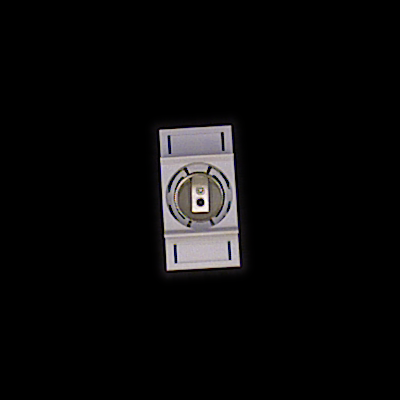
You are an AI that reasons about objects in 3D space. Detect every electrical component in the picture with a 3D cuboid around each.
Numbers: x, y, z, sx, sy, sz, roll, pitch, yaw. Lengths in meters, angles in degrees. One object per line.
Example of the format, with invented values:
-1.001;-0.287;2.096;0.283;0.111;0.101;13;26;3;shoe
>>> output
0.000;0.000;0.625;0.042;0.081;0.063;-3;-6;1;electrical component
